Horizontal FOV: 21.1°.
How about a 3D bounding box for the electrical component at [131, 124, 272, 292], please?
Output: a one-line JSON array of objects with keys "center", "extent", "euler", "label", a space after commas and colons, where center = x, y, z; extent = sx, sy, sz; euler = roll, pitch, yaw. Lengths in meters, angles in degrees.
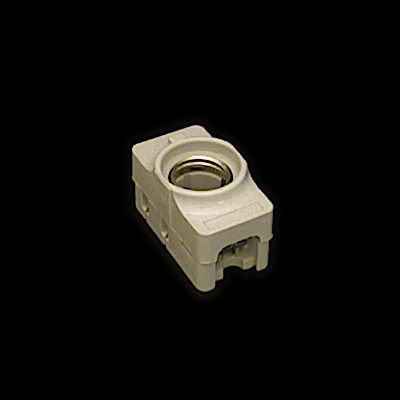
[{"center": [0.000, 0.000, 0.640], "extent": [0.050, 0.056, 0.088], "euler": [-21, 47, -22], "label": "electrical component"}]
